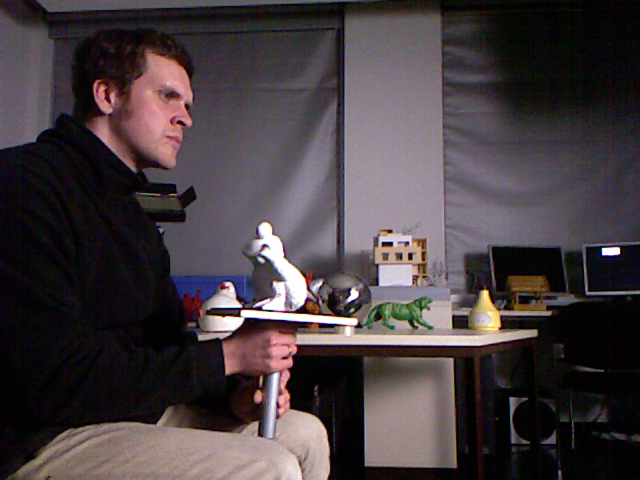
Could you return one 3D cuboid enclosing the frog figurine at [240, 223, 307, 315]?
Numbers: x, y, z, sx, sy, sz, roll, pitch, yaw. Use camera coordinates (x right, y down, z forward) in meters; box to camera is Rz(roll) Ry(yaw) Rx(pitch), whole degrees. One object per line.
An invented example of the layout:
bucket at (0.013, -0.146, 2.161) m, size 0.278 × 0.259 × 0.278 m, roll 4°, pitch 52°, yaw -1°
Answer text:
frog figurine at (-0.081, 0.052, 0.902) m, size 0.123 × 0.160 × 0.137 m, roll 5°, pitch -6°, yaw -7°
